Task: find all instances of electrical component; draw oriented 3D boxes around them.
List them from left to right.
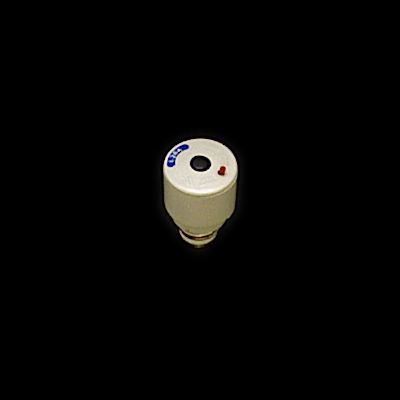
[{"bbox_3d":[0.000,0.000,0.619,0.040,0.040,0.078,0,-38,-1],"label":"electrical component"}]
